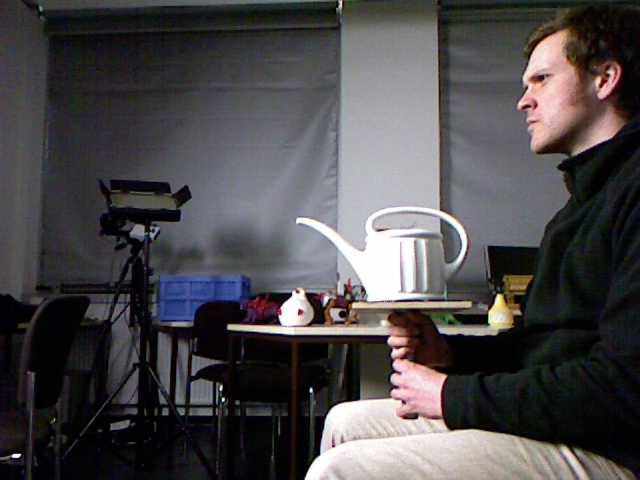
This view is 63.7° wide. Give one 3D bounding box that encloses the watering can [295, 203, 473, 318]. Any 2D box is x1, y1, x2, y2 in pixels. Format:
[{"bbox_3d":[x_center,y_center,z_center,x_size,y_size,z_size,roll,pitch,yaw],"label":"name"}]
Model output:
[{"bbox_3d":[0.124,0.040,1.016,0.347,0.226,0.103,-1,-8,5],"label":"watering can"}]
